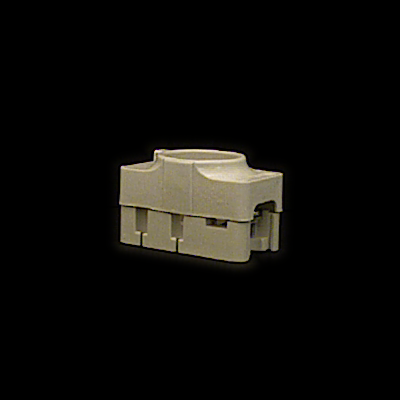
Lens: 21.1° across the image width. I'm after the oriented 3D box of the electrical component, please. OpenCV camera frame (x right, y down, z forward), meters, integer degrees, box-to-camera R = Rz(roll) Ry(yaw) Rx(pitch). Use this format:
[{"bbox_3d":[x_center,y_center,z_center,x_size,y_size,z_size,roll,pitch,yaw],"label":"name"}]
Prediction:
[{"bbox_3d":[0.000,0.000,0.652,0.088,0.056,0.050,8,13,30],"label":"electrical component"}]
